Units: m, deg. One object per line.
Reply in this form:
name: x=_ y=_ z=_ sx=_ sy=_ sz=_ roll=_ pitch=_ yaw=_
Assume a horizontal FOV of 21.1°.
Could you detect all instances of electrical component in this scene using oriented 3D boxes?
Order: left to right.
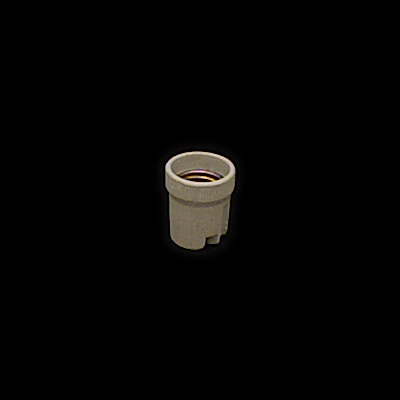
electrical component: x=0.000 y=0.000 z=0.635 sx=0.040 sy=0.047 sz=0.039 roll=1 pitch=32 yaw=0
